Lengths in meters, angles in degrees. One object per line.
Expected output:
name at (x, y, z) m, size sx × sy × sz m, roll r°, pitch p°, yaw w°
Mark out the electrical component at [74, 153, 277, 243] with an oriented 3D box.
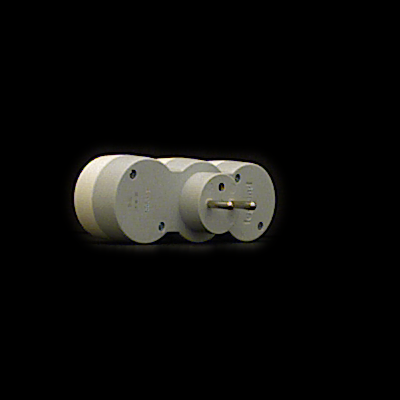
electrical component at (0.000, 0.000, 0.653) m, size 0.139 × 0.052 × 0.073 m, roll 1°, pitch 3°, yaw -45°
